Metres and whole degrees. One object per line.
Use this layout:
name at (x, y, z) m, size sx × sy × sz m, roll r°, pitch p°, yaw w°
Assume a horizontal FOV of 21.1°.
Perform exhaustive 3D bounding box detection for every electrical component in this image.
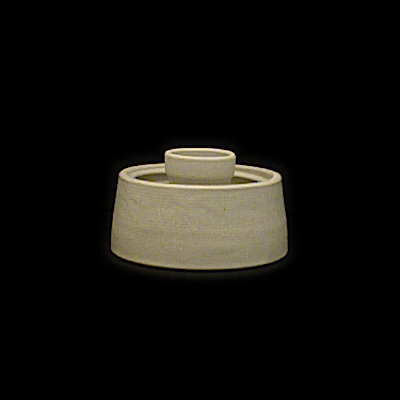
electrical component at (0.000, 0.000, 0.650) m, size 0.108 × 0.061 × 0.107 m, roll 1°, pitch 11°, yaw 0°
